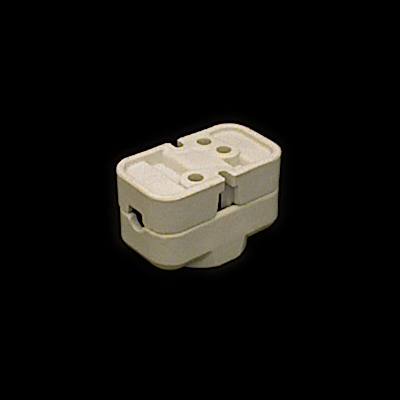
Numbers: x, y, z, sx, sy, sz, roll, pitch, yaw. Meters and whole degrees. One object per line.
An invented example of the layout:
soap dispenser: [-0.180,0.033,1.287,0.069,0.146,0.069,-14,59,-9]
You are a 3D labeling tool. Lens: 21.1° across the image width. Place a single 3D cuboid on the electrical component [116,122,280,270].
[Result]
electrical component: [0.000,0.000,0.642,0.095,0.060,0.053,-23,39,-32]
